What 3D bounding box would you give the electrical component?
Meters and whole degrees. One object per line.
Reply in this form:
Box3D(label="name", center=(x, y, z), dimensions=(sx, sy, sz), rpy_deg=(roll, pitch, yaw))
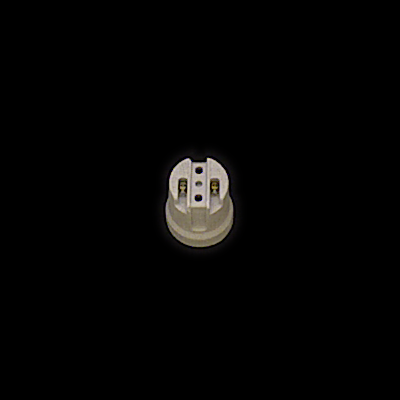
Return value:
Box3D(label="electrical component", center=(0.000, 0.000, 0.632), dimensions=(0.040, 0.040, 0.046), rpy_deg=(0, -27, 0))
